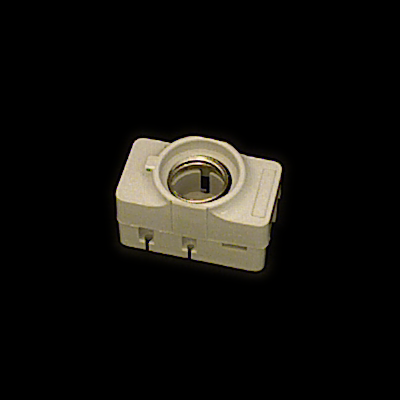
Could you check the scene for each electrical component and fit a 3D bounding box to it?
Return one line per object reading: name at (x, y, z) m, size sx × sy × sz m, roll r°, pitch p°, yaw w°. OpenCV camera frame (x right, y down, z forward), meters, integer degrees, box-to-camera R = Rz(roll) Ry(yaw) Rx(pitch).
electrical component at (0.000, 0.000, 0.638) m, size 0.089 × 0.050 × 0.056 m, roll 10°, pitch -37°, yaw 7°
